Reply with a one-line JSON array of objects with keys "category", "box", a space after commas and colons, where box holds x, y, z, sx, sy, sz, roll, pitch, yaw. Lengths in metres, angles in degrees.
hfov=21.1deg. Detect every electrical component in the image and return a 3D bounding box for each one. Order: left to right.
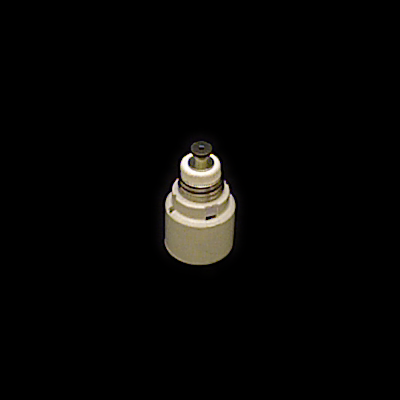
[{"category": "electrical component", "box": [0.000, 0.000, 0.624, 0.040, 0.079, 0.039, 1, 41, -1]}]
